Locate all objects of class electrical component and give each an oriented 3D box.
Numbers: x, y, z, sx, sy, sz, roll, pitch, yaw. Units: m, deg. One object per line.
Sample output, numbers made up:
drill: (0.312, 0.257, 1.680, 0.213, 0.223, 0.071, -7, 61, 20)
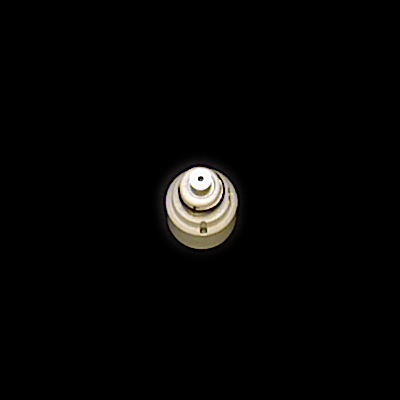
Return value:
electrical component: (0.000, 0.000, 0.617, 0.040, 0.040, 0.078, 0, -18, 1)
